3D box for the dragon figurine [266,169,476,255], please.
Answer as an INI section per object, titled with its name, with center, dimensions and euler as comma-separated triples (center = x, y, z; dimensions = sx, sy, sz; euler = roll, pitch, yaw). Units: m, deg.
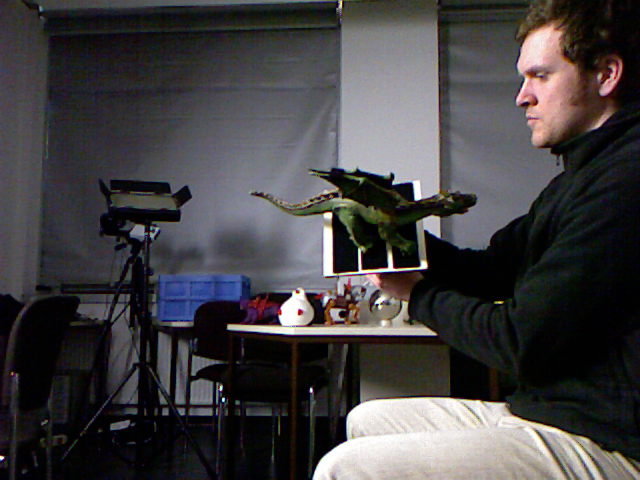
[dragon figurine]
center = 0.069, -0.077, 0.945
dimensions = 0.412, 0.125, 0.240
euler = 7, -21, 12
